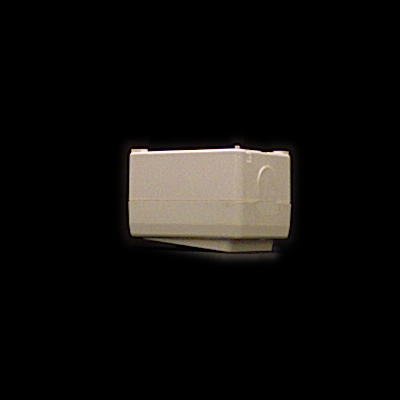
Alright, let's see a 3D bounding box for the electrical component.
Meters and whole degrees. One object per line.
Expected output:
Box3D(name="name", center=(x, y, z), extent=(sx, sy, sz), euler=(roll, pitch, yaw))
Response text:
Box3D(name="electrical component", center=(0.000, 0.000, 0.653), extent=(0.096, 0.061, 0.062), euler=(1, 0, 34))
